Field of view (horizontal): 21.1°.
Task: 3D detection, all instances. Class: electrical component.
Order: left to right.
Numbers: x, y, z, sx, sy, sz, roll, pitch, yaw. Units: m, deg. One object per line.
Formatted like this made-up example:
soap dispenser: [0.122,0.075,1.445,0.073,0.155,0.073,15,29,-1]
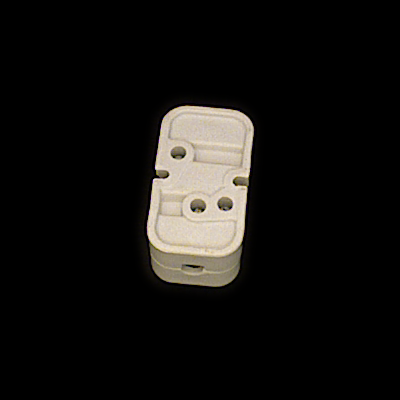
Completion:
electrical component: [0.000,0.000,0.635,0.053,0.095,0.059,5,-27,3]
